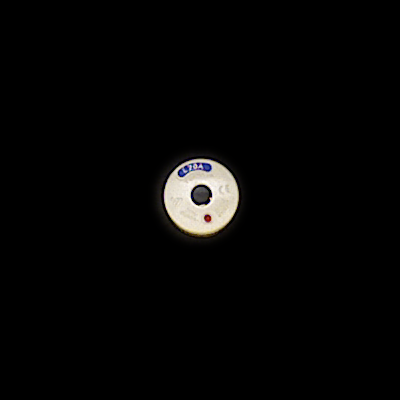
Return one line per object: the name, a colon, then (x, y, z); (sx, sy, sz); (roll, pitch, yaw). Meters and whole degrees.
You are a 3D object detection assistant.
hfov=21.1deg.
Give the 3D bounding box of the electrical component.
electrical component: (0.000, 0.000, 0.617); (0.040, 0.040, 0.078); (0, -5, 0)
